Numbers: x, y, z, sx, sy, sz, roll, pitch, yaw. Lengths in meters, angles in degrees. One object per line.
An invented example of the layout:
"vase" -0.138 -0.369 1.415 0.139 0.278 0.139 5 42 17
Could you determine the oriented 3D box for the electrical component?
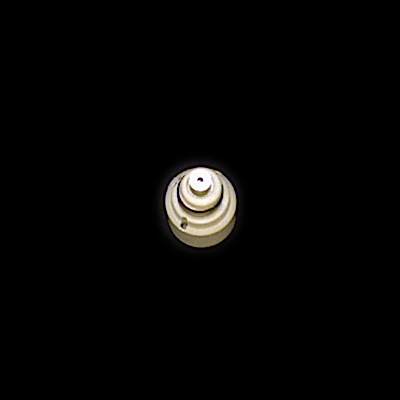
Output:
"electrical component" 0.000 0.000 0.618 0.040 0.040 0.078 0 -16 0
